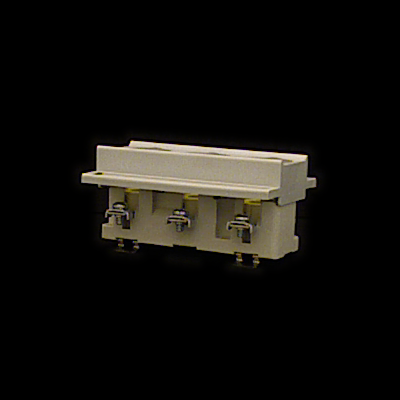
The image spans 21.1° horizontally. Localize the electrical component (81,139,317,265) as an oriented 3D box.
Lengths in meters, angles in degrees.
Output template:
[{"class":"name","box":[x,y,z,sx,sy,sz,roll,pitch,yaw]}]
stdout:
[{"class":"electrical component","box":[0.000,0.000,0.658,0.121,0.063,0.078,6,11,25]}]
